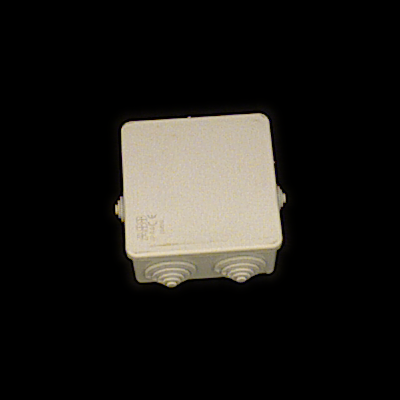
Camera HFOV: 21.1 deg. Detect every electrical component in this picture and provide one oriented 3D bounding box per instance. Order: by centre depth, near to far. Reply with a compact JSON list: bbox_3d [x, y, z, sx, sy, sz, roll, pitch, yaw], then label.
[{"bbox_3d":[0.000,0.000,0.639,0.100,0.100,0.048,-3,-26,-2],"label":"electrical component"}]
